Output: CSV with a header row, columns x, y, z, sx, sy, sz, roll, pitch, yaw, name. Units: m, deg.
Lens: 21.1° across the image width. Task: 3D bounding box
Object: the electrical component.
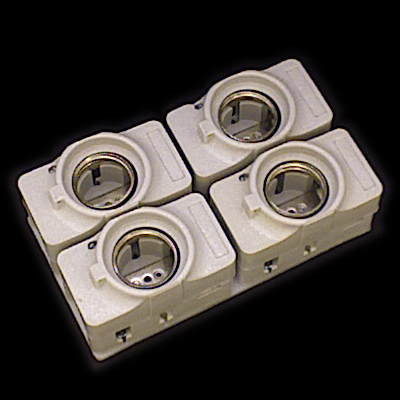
x,y,z,sx,sy,sz,roll,pitch,yaw,name
0.000,0.000,0.625,0.187,0.105,0.060,-25,-24,-12,electrical component
